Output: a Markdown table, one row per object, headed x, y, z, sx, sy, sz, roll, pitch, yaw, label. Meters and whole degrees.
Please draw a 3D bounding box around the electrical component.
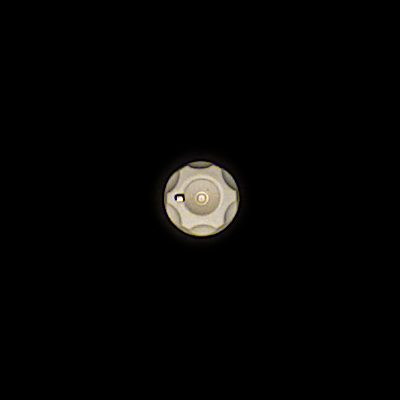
| x | y | z | sx | sy | sz | roll | pitch | yaw | label |
| --- | --- | --- | --- | --- | --- | --- | --- | --- | --- |
| 0.000 | 0.000 | 0.635 | 0.043 | 0.043 | 0.062 | 0 | -6 | 0 | electrical component |
